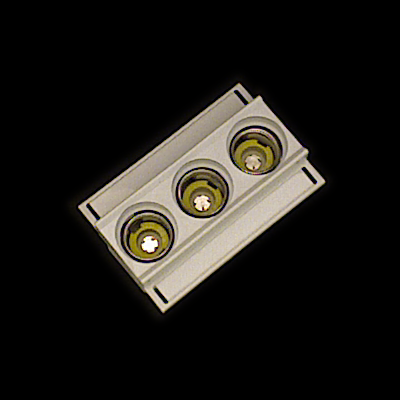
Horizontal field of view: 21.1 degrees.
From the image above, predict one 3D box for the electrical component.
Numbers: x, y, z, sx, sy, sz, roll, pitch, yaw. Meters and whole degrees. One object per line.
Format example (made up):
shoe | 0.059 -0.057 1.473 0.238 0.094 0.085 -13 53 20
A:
electrical component | 0.000 0.000 0.637 0.122 0.078 0.063 -38 -12 -10
